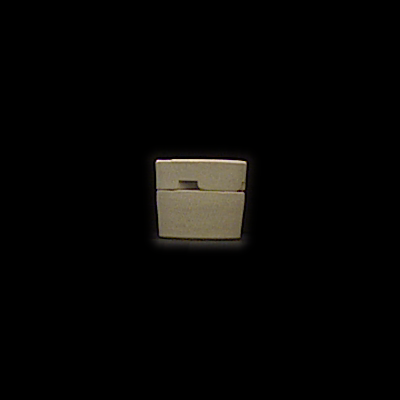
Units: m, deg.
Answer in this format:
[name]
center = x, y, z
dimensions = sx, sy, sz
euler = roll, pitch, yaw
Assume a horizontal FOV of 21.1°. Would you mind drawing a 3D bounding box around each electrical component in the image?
[electrical component]
center = 0.000, 0.000, 0.649
dimensions = 0.055, 0.047, 0.055
euler = 1, 0, 0
